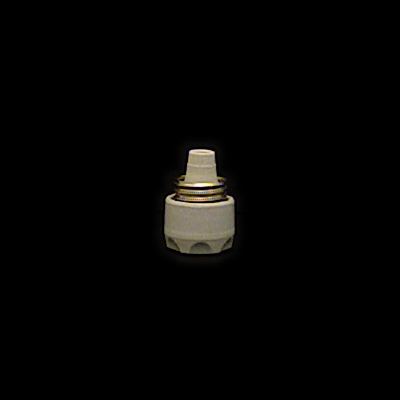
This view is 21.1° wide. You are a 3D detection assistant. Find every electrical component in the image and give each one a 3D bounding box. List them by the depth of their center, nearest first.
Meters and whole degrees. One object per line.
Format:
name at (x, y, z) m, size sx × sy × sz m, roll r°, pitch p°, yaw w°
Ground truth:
electrical component at (0.000, 0.000, 0.650) m, size 0.043 × 0.062 × 0.043 m, roll 2°, pitch 13°, yaw 0°
